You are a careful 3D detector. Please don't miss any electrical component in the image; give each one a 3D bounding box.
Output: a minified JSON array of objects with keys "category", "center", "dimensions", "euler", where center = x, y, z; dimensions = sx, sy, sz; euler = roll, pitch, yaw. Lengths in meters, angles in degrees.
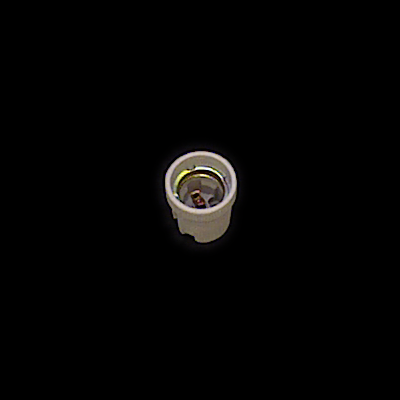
[{"category":"electrical component","center":[0.000,0.000,0.627],"dimensions":[0.040,0.040,0.046],"euler":[0,-27,0]}]
